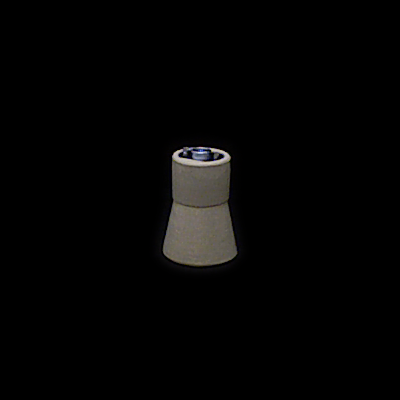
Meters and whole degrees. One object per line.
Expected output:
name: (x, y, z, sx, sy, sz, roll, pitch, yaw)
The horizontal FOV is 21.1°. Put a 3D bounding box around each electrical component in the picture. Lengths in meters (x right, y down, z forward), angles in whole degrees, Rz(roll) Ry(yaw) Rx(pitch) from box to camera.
electrical component: (0.000, 0.000, 0.639, 0.044, 0.066, 0.044, 1, 20, 0)
